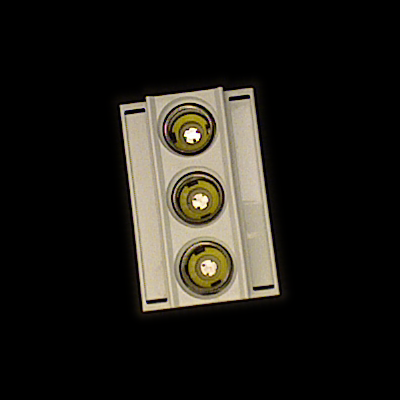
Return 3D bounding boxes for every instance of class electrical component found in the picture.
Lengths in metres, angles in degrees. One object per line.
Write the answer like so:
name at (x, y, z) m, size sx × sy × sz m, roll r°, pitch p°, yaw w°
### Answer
electrical component at (0.000, 0.000, 0.637) m, size 0.079 × 0.121 × 0.063 m, roll -7°, pitch -6°, yaw 1°
